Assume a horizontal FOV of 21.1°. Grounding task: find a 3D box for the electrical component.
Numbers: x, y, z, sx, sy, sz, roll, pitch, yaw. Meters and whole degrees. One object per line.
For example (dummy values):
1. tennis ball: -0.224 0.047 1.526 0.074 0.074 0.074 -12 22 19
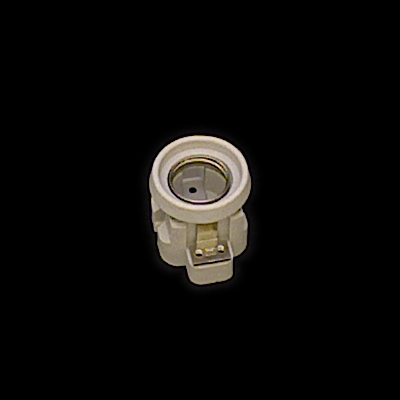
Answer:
1. electrical component: 0.000 0.000 0.628 0.058 0.078 0.057 -9 -36 -8
